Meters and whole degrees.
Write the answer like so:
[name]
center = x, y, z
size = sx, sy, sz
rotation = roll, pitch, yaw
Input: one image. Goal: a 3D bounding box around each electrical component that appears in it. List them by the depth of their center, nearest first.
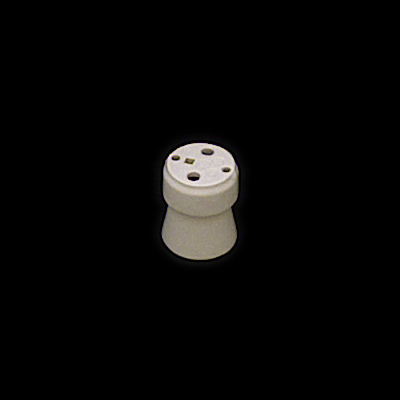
[electrical component]
center = 0.000, 0.000, 0.633
size = 0.045, 0.055, 0.044
rotation = 1, 42, -1
